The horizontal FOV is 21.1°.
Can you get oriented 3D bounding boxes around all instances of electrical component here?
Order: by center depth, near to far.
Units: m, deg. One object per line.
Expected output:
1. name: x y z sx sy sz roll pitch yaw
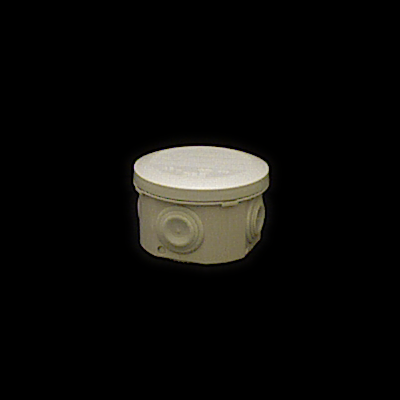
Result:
1. electrical component: 0.000 0.000 0.640 0.080 0.051 0.079 1 21 0
